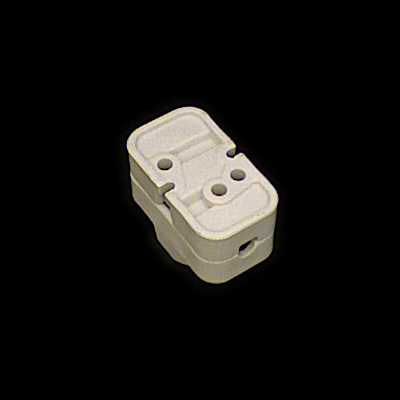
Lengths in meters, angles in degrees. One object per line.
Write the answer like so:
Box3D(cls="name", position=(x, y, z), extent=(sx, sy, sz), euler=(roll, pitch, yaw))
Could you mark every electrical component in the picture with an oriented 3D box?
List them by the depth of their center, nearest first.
Box3D(cls="electrical component", position=(0.000, 0.000, 0.637), extent=(0.054, 0.094, 0.059), euler=(-29, -32, -20))
